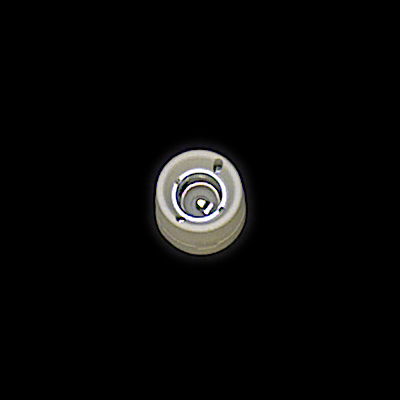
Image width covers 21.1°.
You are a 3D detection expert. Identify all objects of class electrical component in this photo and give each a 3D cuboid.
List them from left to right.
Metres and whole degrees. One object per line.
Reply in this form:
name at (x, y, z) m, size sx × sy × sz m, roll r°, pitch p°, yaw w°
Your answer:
electrical component at (0.000, 0.000, 0.632) m, size 0.055 × 0.056 × 0.047 m, roll 0°, pitch -16°, yaw 1°
